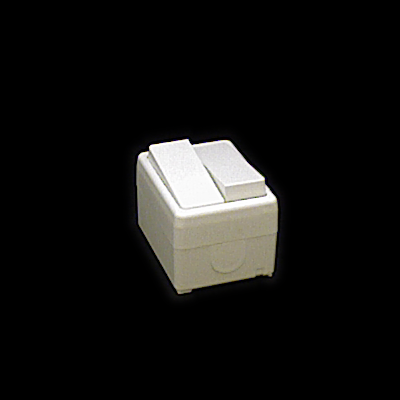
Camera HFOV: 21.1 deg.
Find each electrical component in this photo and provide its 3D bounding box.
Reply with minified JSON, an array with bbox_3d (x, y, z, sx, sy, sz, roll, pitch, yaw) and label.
[{"bbox_3d":[0.000,0.000,0.636,0.062,0.061,0.095,-10,33,-17],"label":"electrical component"}]
